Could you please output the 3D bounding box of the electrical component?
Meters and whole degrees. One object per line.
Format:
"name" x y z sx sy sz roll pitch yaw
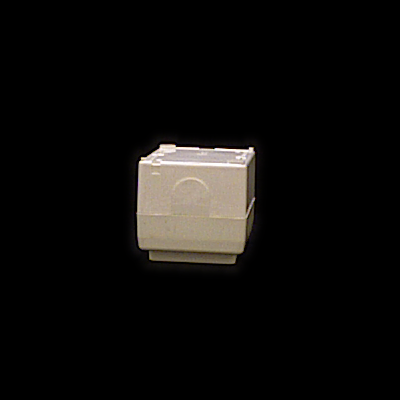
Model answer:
"electrical component" 0.000 0.000 0.646 0.062 0.061 0.095 2 10 6
